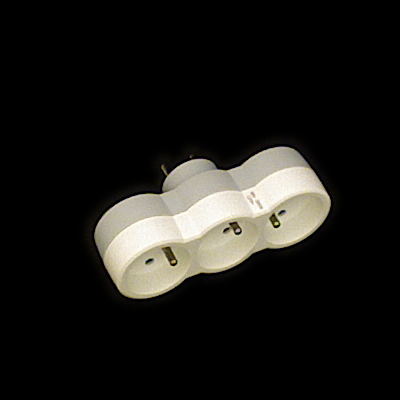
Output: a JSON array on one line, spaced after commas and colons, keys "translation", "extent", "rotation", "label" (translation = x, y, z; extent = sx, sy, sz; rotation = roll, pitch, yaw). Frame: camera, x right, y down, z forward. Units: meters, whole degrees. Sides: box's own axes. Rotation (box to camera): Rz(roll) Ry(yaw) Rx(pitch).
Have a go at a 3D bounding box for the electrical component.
[{"translation": [0.000, 0.000, 0.641], "extent": [0.139, 0.073, 0.052], "rotation": [-20, -36, -15], "label": "electrical component"}]
